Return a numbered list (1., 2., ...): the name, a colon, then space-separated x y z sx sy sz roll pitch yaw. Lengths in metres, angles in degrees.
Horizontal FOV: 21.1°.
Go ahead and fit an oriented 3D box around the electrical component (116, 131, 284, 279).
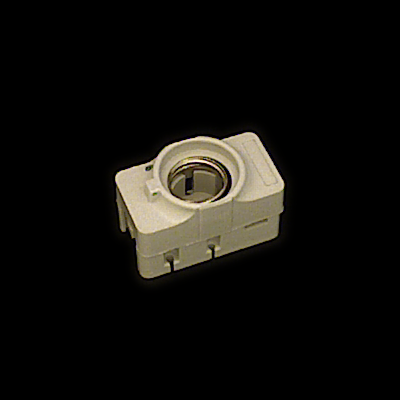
1. electrical component: 0.000 0.000 0.637 0.090 0.050 0.056 -18 -35 -14
